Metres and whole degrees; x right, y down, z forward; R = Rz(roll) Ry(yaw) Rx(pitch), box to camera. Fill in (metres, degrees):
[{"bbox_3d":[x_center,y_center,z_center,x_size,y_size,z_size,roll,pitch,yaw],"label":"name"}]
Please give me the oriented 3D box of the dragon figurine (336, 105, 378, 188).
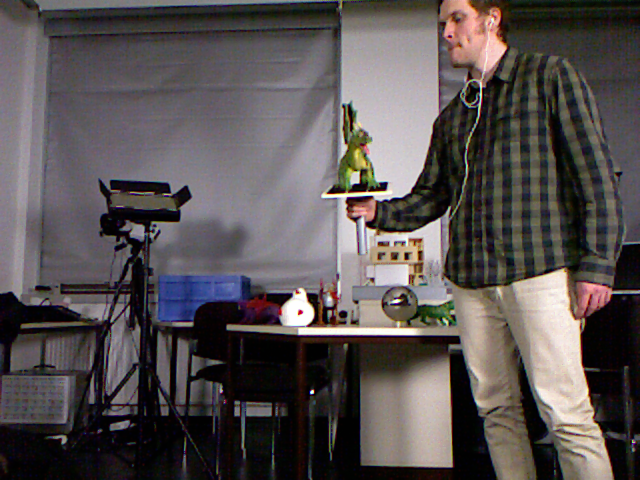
[{"bbox_3d":[0.094,-0.285,1.550,0.122,0.240,0.415,-7,15,-8],"label":"dragon figurine"}]
